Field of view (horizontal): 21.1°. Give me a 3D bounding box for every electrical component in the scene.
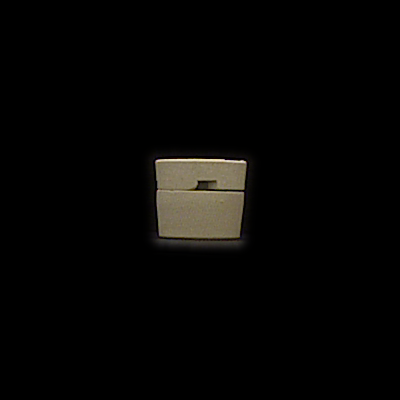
[{"bbox_3d":[0.000,0.000,0.650,0.055,0.047,0.055,2,1,0],"label":"electrical component"}]
